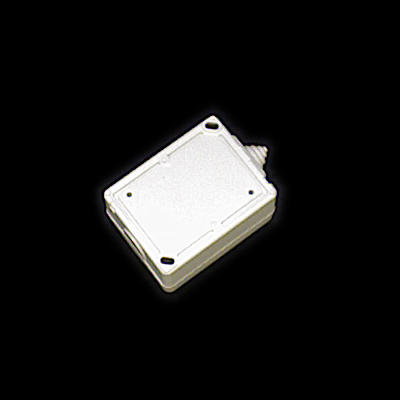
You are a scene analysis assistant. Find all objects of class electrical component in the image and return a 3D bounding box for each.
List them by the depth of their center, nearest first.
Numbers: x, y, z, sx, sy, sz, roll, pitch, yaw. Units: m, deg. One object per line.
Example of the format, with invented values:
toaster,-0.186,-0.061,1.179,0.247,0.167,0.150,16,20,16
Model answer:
electrical component,0.000,0.000,0.627,0.096,0.062,0.061,-36,-14,-10
